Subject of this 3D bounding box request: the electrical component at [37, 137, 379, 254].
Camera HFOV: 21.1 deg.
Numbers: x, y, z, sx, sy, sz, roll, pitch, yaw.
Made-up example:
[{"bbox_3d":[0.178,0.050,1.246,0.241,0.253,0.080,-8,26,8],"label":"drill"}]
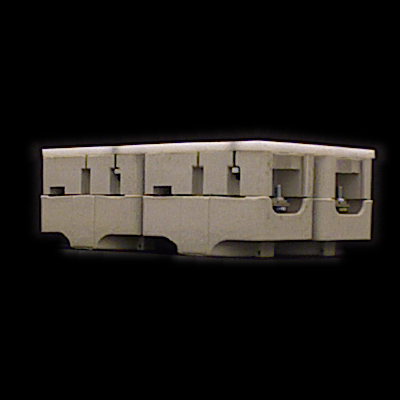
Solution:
[{"bbox_3d":[0.000,0.000,0.649,0.186,0.060,0.106,0,-1,45],"label":"electrical component"}]
